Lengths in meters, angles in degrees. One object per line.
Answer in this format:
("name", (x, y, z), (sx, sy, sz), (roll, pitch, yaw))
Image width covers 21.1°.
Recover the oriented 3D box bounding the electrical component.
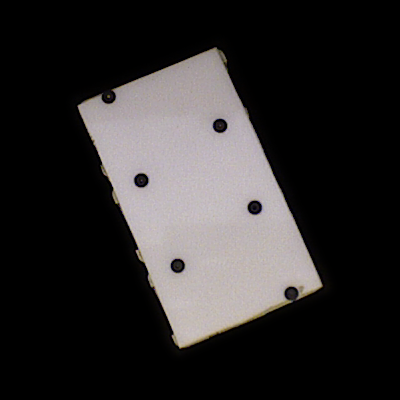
("electrical component", (0.000, 0.000, 0.631), (0.090, 0.150, 0.061), (-23, -6, -3))
